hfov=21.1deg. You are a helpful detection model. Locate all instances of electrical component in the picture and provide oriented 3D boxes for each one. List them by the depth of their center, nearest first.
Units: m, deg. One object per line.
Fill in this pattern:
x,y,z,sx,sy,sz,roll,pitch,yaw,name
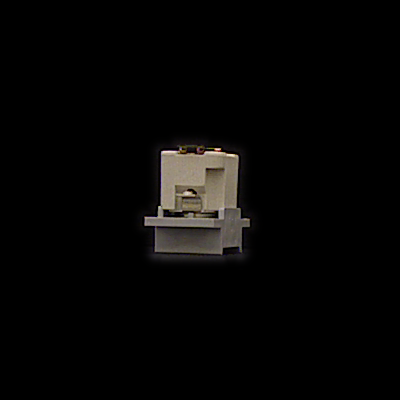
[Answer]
0.000,0.000,0.649,0.042,0.064,0.081,2,0,16,electrical component
